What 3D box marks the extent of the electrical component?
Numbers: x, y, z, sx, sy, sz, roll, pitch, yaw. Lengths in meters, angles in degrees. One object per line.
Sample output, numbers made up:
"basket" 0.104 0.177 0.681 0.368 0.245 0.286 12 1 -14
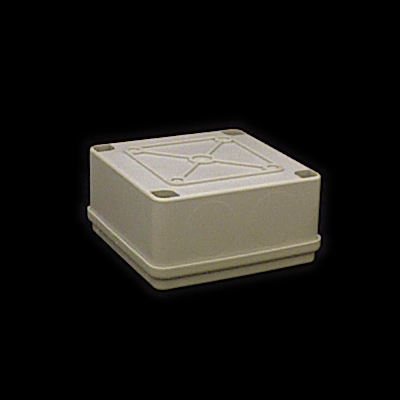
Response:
"electrical component" 0.000 0.000 0.640 0.108 0.057 0.107 -9 23 -25
